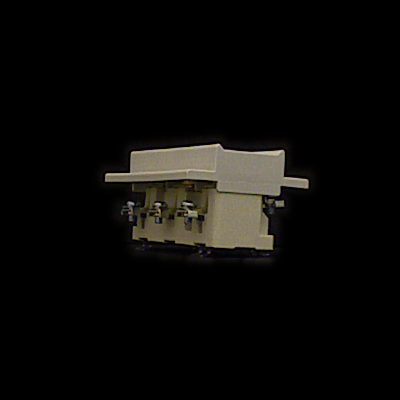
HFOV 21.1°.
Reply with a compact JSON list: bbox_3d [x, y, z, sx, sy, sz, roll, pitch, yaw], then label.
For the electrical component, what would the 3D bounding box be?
[{"bbox_3d":[0.000,0.000,0.664,0.079,0.063,0.121,2,0,-27],"label":"electrical component"}]
